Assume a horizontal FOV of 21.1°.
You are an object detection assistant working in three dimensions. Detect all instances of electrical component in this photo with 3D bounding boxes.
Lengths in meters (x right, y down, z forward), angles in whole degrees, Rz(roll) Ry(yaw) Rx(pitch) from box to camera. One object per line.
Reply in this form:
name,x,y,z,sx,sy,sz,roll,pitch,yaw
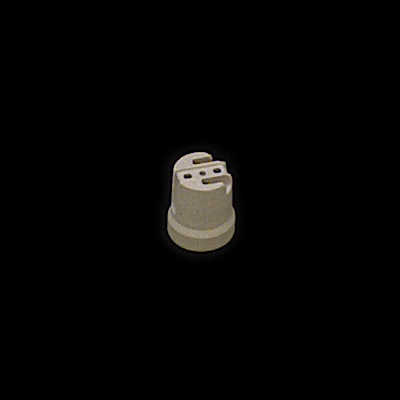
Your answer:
electrical component,0.000,0.000,0.635,0.040,0.046,0.040,0,43,0
